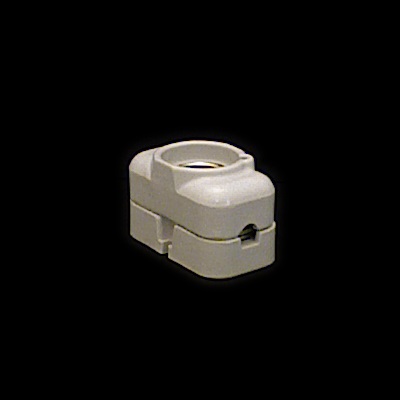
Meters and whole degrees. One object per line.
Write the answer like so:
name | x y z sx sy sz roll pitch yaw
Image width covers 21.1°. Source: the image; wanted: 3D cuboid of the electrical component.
electrical component | 0.000 0.000 0.646 0.054 0.060 0.093 -16 28 -35
